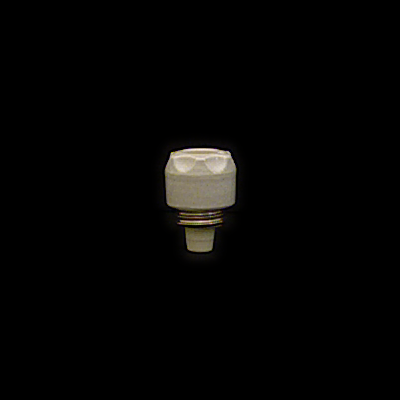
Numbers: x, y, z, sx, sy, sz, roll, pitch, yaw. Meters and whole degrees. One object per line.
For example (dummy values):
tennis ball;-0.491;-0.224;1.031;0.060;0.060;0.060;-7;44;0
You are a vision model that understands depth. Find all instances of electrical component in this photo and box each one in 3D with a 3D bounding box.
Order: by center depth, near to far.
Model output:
electrical component;0.000;0.000;0.651;0.043;0.062;0.043;0;12;0
